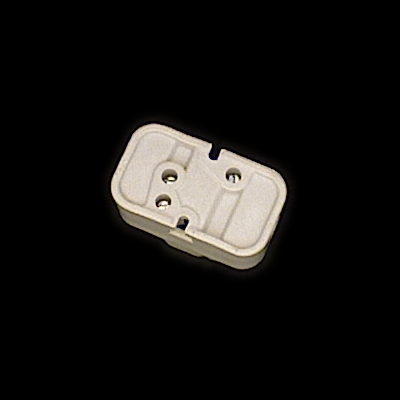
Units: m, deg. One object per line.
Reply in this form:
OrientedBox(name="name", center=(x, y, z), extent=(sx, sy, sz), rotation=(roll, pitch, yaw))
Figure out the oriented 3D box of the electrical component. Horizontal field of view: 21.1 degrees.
OrientedBox(name="electrical component", center=(0.000, 0.000, 0.635), extent=(0.095, 0.054, 0.059), rotation=(22, -14, 6))
